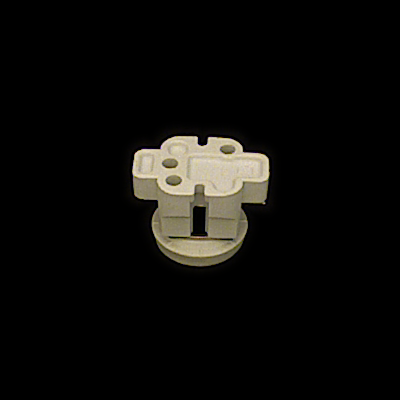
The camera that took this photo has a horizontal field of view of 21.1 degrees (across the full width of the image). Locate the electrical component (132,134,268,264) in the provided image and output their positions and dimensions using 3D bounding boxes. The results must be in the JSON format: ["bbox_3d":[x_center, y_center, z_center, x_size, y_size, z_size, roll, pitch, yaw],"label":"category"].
[{"bbox_3d":[0.000,0.000,0.640,0.078,0.057,0.057,2,42,-1],"label":"electrical component"}]
